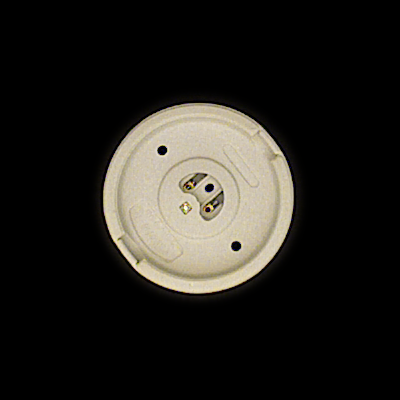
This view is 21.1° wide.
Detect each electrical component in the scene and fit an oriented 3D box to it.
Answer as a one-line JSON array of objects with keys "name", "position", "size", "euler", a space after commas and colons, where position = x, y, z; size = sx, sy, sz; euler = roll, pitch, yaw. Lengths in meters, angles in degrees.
[{"name": "electrical component", "position": [0.000, 0.000, 0.635], "size": [0.108, 0.108, 0.060], "euler": [0, -6, 0]}]
